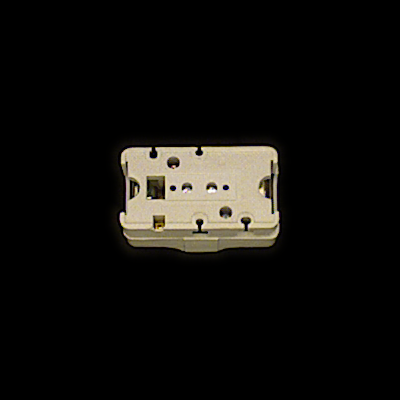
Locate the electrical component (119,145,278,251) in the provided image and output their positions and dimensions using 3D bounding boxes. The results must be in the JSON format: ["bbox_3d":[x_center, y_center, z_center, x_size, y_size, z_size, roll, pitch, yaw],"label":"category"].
[{"bbox_3d":[0.000,0.000,0.636,0.089,0.050,0.055,-1,-16,1],"label":"electrical component"}]
